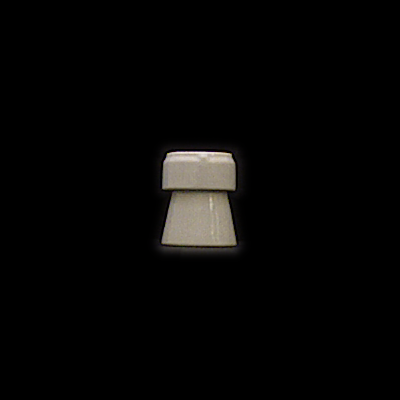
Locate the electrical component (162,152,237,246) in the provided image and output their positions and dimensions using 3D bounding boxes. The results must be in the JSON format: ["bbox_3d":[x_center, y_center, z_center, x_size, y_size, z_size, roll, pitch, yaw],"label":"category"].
[{"bbox_3d":[0.000,0.000,0.649,0.045,0.055,0.045,1,1,0],"label":"electrical component"}]
